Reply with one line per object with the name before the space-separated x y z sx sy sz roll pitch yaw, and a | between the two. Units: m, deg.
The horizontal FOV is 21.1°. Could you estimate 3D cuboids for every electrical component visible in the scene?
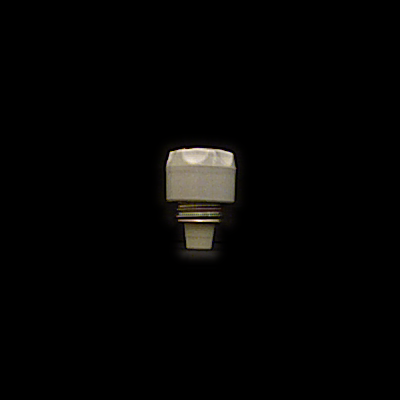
electrical component | 0.000 0.000 0.658 0.043 0.062 0.043 2 1 0
